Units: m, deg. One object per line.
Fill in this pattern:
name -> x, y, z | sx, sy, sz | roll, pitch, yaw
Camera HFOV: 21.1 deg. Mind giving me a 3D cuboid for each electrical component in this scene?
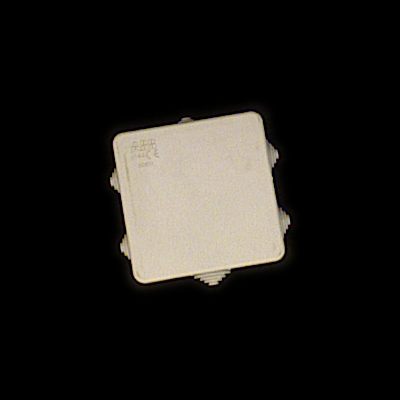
electrical component -> 0.000, 0.000, 0.642 | 0.100, 0.100, 0.048 | -9, -6, -1
